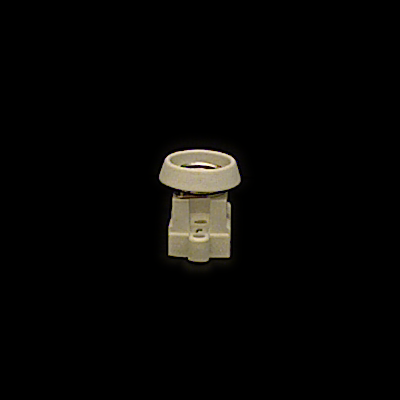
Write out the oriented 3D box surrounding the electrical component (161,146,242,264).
[{"bbox_3d":[0.000,0.000,0.647,0.048,0.056,0.065,3,22,-1],"label":"electrical component"}]
